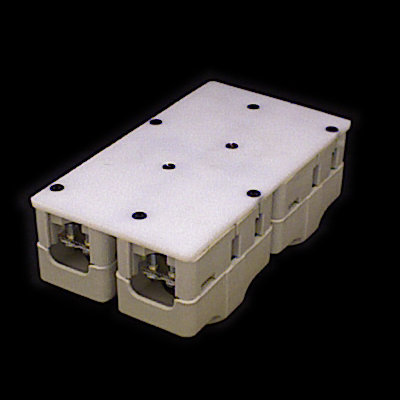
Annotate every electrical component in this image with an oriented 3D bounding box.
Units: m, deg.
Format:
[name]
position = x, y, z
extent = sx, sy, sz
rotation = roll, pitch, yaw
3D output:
[electrical component]
position = 0.000, 0.000, 0.633
extent = 0.105, 0.061, 0.185
rotation = 19, 36, 27
